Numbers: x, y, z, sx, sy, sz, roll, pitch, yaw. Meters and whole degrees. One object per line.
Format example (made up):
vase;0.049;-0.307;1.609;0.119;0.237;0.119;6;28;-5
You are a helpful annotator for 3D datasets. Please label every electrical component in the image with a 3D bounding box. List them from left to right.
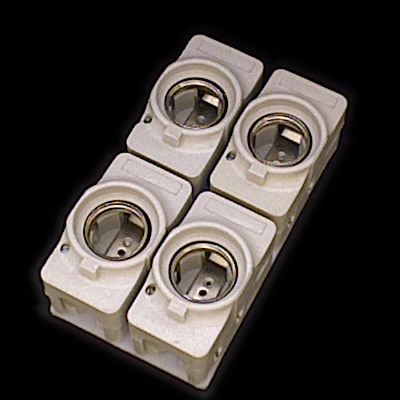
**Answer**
electrical component;0.000;0.000;0.625;0.105;0.187;0.060;25;-24;12
